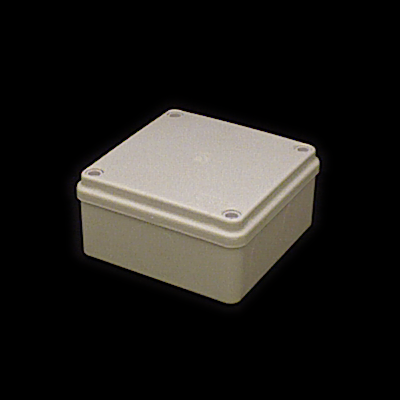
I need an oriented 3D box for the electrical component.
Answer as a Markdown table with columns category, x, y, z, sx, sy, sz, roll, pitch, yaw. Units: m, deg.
| category | x | y | z | sx | sy | sz | roll | pitch | yaw |
| --- | --- | --- | --- | --- | --- | --- | --- | --- | --- |
| electrical component | 0.000 | 0.000 | 0.637 | 0.108 | 0.057 | 0.108 | 17 | 34 | 25 |
